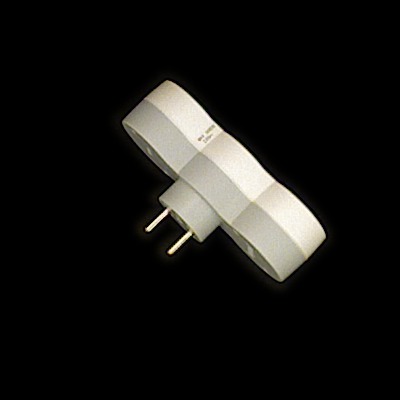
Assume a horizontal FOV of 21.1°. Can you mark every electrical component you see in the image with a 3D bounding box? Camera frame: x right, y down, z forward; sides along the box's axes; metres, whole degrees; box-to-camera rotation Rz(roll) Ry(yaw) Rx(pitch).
[{"bbox_3d":[0.000,0.000,0.637,0.074,0.138,0.052,-43,-12,-10],"label":"electrical component"}]
